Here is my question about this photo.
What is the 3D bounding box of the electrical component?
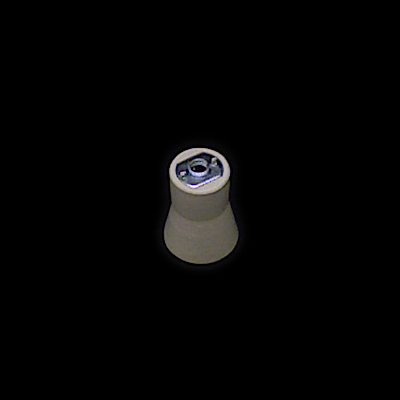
[{"bbox_3d":[0.000,0.000,0.628,0.044,0.044,0.065,0,-39,1],"label":"electrical component"}]
